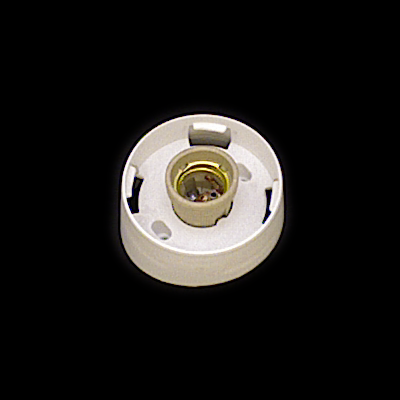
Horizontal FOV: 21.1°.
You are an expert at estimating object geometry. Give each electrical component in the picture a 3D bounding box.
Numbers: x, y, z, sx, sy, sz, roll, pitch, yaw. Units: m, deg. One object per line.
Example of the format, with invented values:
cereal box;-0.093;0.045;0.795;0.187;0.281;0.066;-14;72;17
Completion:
electrical component;0.000;0.000;0.625;0.099;0.099;0.064;0;-27;0
